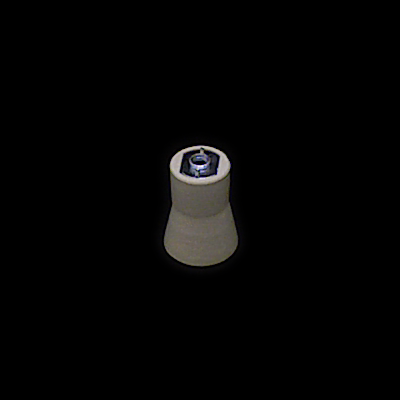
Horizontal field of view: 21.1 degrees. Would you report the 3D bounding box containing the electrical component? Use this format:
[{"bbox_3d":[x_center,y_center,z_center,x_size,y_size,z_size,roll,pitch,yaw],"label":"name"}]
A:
[{"bbox_3d":[0.000,0.000,0.630,0.044,0.066,0.044,0,42,1],"label":"electrical component"}]
